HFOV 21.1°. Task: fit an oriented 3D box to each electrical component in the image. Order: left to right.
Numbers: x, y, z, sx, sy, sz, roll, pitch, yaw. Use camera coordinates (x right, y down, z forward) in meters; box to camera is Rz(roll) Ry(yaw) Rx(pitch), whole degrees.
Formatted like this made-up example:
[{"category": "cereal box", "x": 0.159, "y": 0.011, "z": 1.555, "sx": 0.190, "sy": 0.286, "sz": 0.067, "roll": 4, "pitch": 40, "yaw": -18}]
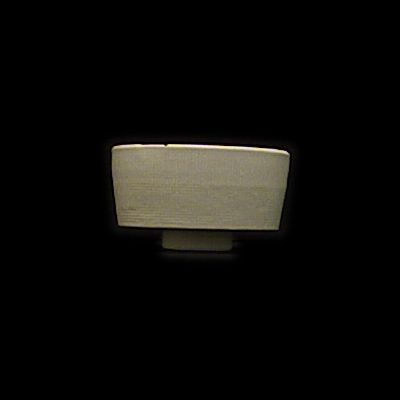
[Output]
[{"category": "electrical component", "x": 0.000, "y": 0.000, "z": 0.652, "sx": 0.108, "sy": 0.060, "sz": 0.108, "roll": 2, "pitch": 0, "yaw": 1}]
